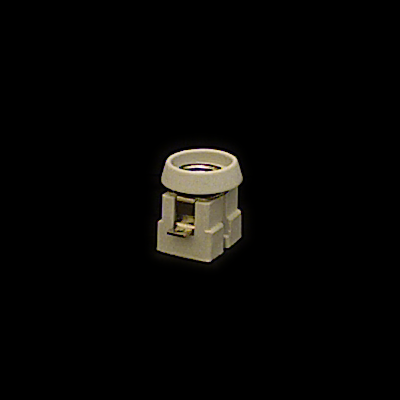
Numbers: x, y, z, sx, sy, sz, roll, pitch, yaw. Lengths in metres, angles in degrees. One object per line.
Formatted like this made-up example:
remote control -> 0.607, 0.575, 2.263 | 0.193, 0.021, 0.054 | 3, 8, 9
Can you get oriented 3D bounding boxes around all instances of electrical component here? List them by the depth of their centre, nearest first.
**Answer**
electrical component -> 0.000, 0.000, 0.645 | 0.048, 0.056, 0.066 | 9, 23, 24
